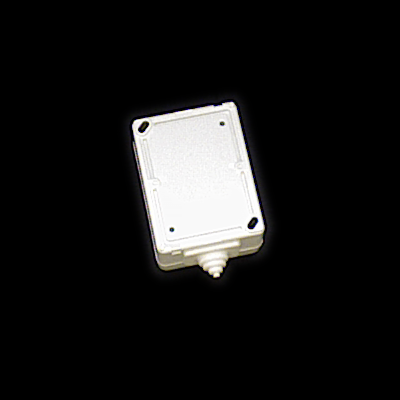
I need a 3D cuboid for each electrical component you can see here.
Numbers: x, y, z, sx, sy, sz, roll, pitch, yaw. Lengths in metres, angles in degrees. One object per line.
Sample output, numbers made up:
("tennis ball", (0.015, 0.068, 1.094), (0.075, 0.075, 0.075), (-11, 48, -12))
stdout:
("electrical component", (0.000, 0.000, 0.623), (0.062, 0.097, 0.060), (-11, -17, -4))
